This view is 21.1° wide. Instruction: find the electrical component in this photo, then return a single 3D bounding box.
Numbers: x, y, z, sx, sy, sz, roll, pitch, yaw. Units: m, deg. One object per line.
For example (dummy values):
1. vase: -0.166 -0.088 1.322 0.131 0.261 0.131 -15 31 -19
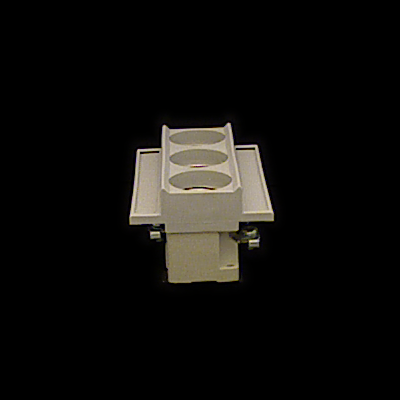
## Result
1. electrical component: 0.000 0.000 0.650 0.079 0.064 0.119 -1 21 -1
